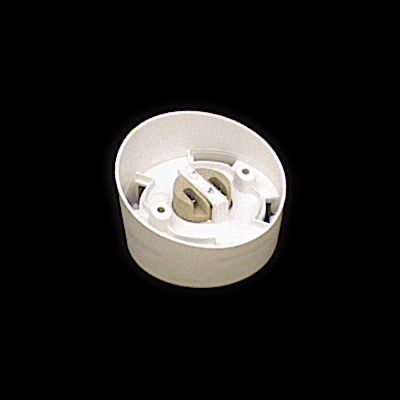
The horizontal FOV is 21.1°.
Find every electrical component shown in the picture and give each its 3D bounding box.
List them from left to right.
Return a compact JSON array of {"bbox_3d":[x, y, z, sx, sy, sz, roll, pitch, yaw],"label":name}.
[{"bbox_3d":[0.000,0.000,0.629,0.099,0.065,0.098,0,41,0],"label":"electrical component"}]
